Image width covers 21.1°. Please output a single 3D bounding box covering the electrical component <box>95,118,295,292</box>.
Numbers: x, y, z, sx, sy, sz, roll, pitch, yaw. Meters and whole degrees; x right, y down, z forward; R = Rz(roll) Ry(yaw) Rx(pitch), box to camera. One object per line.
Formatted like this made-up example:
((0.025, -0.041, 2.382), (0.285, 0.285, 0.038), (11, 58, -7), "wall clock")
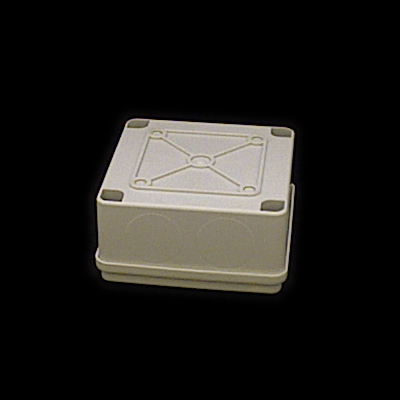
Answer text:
((0.000, 0.000, 0.636), (0.108, 0.057, 0.107), (4, 31, 5), "electrical component")
